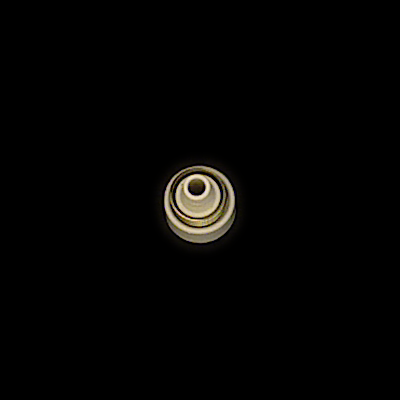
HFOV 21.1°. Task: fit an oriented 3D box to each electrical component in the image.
[{"bbox_3d":[0.000,0.000,0.634,0.043,0.043,0.061,0,-15,2],"label":"electrical component"}]
